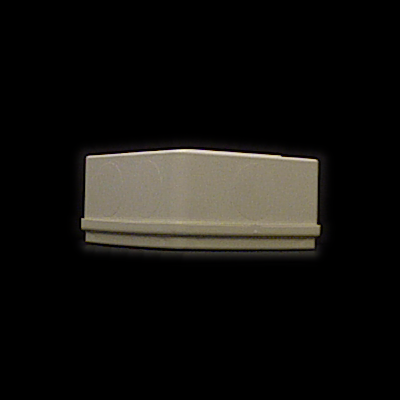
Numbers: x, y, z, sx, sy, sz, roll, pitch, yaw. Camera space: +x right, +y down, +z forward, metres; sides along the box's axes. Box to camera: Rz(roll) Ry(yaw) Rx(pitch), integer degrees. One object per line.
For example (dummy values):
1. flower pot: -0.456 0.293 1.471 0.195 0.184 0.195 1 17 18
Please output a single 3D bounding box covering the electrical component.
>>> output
1. electrical component: 0.000 0.000 0.652 0.109 0.056 0.108 2 -1 -36
